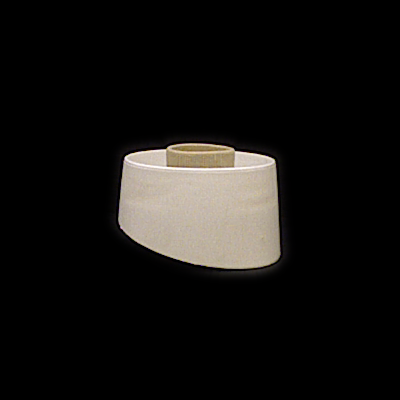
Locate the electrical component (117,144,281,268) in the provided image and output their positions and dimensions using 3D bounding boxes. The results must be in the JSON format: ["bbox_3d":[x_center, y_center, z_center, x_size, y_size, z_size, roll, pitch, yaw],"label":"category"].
[{"bbox_3d":[0.000,0.000,0.644,0.099,0.064,0.098,2,10,0],"label":"electrical component"}]
